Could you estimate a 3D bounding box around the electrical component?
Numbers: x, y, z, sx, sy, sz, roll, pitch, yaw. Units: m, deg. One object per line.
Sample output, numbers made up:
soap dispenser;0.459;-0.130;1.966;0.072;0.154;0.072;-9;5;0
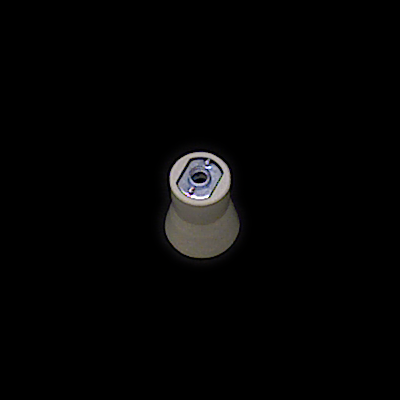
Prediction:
electrical component;0.000;0.000;0.625;0.044;0.044;0.065;0;-27;1
